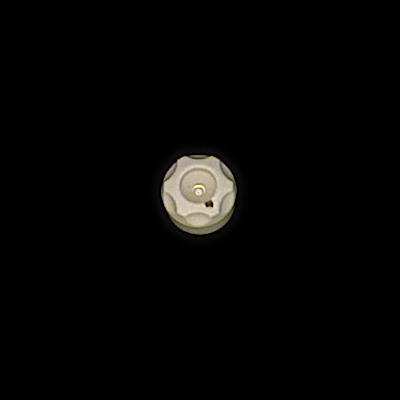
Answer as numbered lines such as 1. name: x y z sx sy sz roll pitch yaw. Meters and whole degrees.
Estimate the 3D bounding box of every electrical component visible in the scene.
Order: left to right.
1. electrical component: 0.000 0.000 0.634 0.043 0.043 0.061 0 -16 1
